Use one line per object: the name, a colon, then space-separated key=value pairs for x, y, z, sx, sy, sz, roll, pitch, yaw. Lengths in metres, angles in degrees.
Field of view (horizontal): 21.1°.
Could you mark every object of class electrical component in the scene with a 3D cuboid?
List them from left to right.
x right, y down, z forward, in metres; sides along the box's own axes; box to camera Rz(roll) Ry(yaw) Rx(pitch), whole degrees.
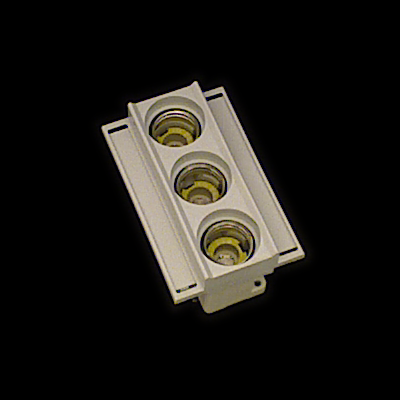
electrical component: x=0.000 y=0.000 z=0.638 sx=0.079 sy=0.121 sz=0.063 roll=-19 pitch=-25 yaw=-11
